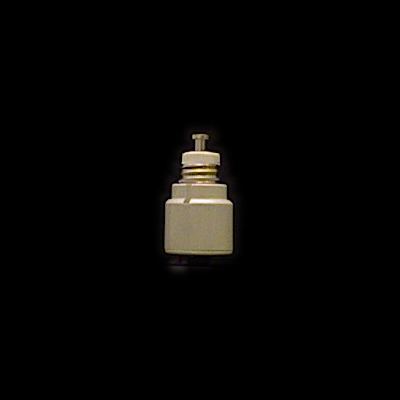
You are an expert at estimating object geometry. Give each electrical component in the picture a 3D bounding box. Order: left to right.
[{"bbox_3d":[0.000,0.000,0.651,0.040,0.078,0.040,1,2,0],"label":"electrical component"}]
